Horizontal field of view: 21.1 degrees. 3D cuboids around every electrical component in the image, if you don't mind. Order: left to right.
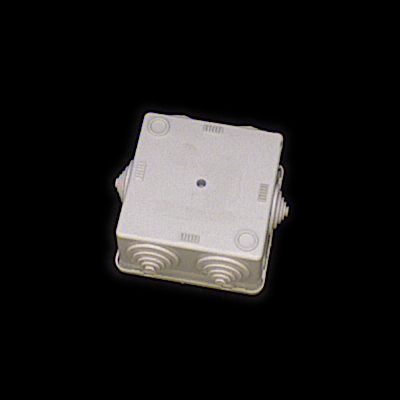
[{"bbox_3d":[0.000,0.000,0.631,0.100,0.100,0.048,10,-26,5],"label":"electrical component"}]
